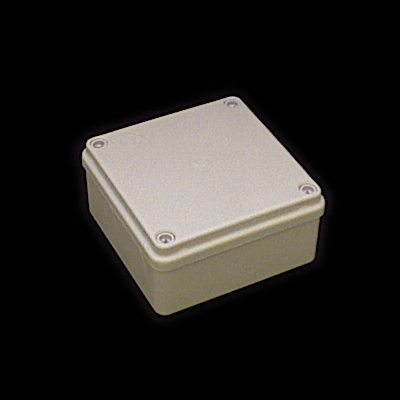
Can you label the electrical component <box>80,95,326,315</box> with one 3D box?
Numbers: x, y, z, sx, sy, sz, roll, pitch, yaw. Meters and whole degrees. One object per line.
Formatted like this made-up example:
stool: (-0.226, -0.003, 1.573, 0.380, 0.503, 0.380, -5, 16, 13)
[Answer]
electrical component: (0.000, 0.000, 0.632, 0.109, 0.056, 0.108, -19, 46, -21)
